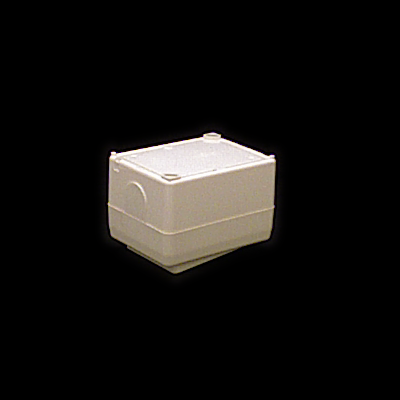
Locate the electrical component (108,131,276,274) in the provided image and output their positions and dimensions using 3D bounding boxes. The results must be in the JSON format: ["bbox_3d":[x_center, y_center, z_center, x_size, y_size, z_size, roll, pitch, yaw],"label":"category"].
[{"bbox_3d":[0.000,0.000,0.638,0.096,0.061,0.061,-14,25,-36],"label":"electrical component"}]
